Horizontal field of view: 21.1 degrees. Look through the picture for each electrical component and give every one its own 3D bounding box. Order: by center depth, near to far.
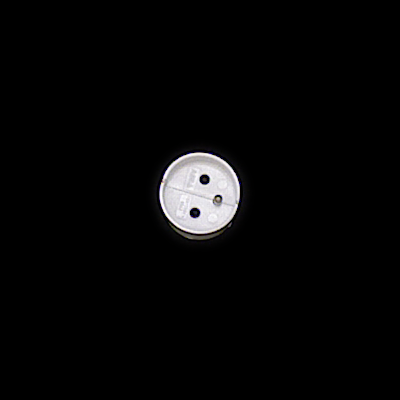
[{"bbox_3d":[0.000,0.000,0.616,0.043,0.043,0.080,0,-6,0],"label":"electrical component"}]
